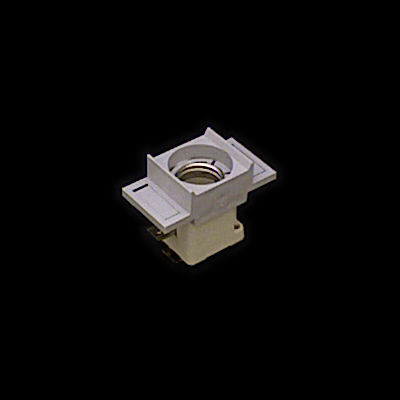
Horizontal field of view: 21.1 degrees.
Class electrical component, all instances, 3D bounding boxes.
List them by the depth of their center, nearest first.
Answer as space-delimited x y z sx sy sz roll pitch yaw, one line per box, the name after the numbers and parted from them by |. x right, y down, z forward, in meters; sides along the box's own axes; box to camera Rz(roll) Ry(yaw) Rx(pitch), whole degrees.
0.000 0.000 0.627 0.081 0.064 0.042 -26 49 -28 | electrical component
